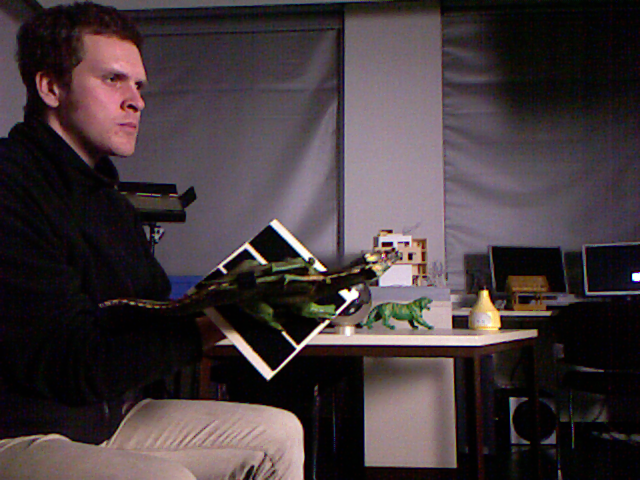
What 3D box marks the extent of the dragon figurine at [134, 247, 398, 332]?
[{"bbox_3d":[-0.088,0.065,0.754,0.412,0.124,0.240,-8,-16,-7],"label":"dragon figurine"}]
